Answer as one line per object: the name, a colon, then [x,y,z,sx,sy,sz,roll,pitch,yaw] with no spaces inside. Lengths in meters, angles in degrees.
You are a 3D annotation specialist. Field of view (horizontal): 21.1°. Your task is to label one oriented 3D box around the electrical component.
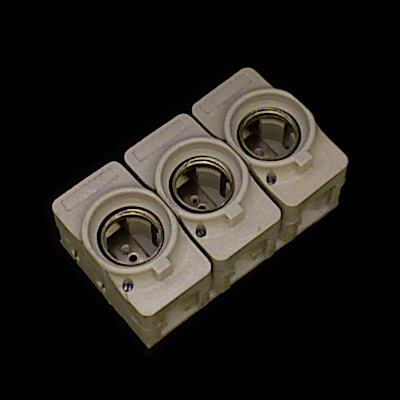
electrical component: [0.000,0.000,0.631,0.150,0.089,0.062,-37,-21,-17]
